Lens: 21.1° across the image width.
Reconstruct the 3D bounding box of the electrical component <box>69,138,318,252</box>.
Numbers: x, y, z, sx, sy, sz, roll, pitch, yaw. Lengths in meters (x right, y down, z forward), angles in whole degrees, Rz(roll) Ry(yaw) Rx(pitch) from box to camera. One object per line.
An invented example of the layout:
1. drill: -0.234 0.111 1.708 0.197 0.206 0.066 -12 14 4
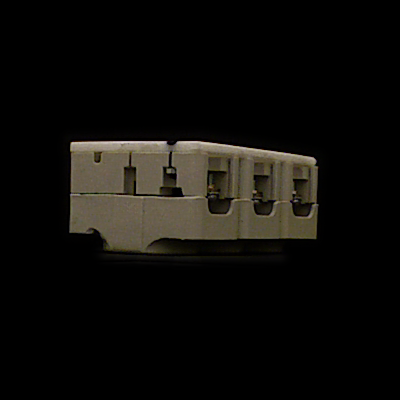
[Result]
1. electrical component: 0.000 0.000 0.661 0.089 0.062 0.150 2 -1 32
